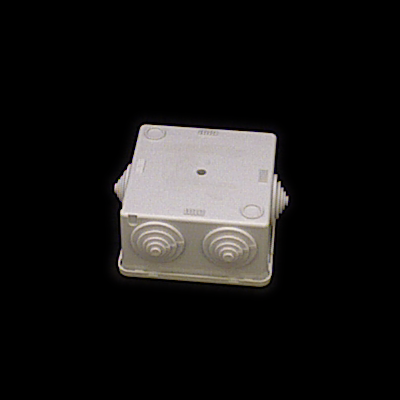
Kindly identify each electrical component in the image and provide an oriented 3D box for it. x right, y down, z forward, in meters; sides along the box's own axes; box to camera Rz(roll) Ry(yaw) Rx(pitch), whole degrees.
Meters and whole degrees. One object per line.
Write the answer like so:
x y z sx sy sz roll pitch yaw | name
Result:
0.000 0.000 0.634 0.099 0.049 0.099 4 42 4 | electrical component
